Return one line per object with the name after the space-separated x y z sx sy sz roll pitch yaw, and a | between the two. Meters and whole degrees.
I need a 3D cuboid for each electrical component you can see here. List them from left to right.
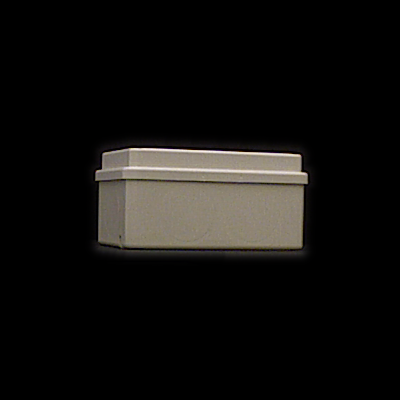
0.000 0.000 0.651 0.113 0.057 0.078 1 0 -20 | electrical component
